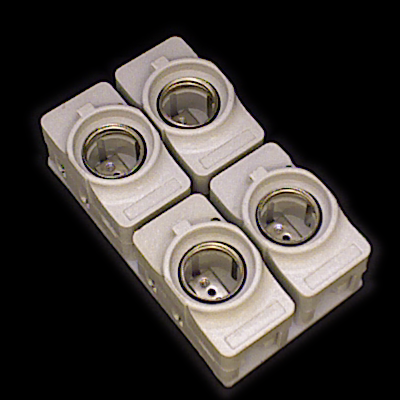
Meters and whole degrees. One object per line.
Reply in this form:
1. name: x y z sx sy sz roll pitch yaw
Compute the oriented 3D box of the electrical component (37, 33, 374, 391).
1. electrical component: 0.000 0.000 0.625 0.106 0.186 0.060 -34 -22 -16
